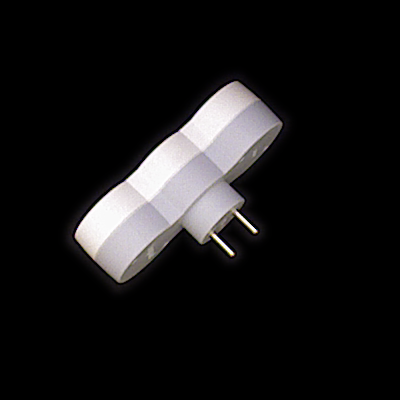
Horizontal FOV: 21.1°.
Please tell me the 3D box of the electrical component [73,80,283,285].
[{"bbox_3d":[0.000,0.000,0.631,0.138,0.074,0.052,-44,-10,-13],"label":"electrical component"}]
